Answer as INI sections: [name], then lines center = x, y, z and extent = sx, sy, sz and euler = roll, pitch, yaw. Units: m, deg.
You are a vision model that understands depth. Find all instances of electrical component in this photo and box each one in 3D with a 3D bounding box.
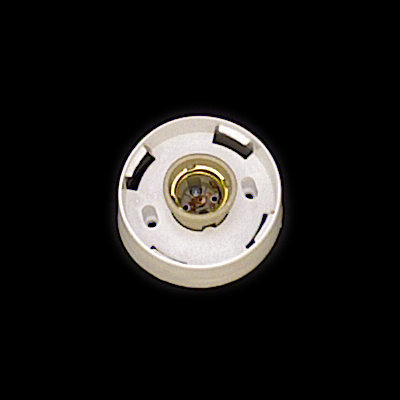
[electrical component]
center = 0.000, 0.000, 0.624
extent = 0.099, 0.099, 0.064
euler = 0, -17, 0
